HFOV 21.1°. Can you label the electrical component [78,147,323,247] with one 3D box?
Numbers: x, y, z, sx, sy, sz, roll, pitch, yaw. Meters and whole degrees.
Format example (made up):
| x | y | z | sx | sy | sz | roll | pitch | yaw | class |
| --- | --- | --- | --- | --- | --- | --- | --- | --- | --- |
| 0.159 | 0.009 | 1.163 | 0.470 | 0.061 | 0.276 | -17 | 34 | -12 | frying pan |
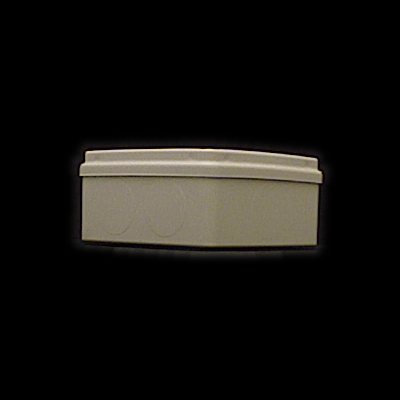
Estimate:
| x | y | z | sx | sy | sz | roll | pitch | yaw | class |
| --- | --- | --- | --- | --- | --- | --- | --- | --- | --- |
| 0.000 | 0.000 | 0.649 | 0.108 | 0.056 | 0.109 | 2 | 0 | 41 | electrical component |
